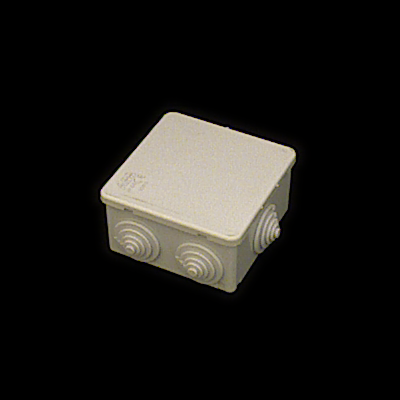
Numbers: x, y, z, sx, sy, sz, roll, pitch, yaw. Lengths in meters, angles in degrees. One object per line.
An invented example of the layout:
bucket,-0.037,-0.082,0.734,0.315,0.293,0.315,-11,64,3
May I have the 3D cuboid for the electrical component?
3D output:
electrical component,0.000,0.000,0.641,0.099,0.049,0.100,19,46,18
